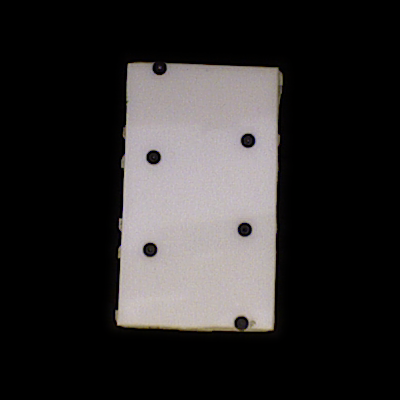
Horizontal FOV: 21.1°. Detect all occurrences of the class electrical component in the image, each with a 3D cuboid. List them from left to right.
[{"bbox_3d":[0.000,0.000,0.631,0.089,0.150,0.061,2,-7,0],"label":"electrical component"}]
